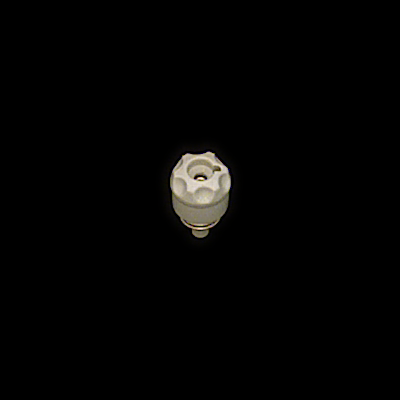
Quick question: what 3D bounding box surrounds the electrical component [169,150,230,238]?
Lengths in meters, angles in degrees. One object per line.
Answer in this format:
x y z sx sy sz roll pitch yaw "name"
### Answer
0.000 0.000 0.634 0.035 0.035 0.061 0 -37 0 "electrical component"
